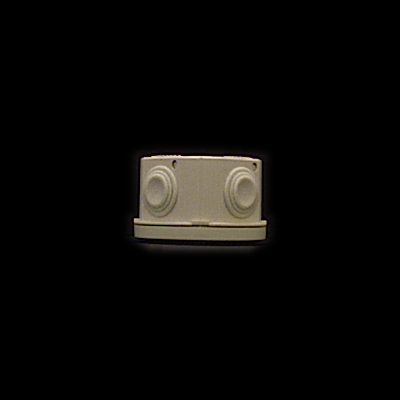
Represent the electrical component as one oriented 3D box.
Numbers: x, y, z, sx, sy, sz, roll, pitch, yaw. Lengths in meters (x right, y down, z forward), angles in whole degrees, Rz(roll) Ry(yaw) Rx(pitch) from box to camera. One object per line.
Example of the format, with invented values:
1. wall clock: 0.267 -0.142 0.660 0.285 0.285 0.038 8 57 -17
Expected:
1. electrical component: 0.000 0.000 0.650 0.080 0.051 0.080 1 0 0
